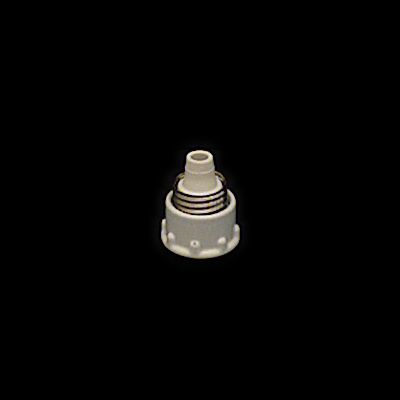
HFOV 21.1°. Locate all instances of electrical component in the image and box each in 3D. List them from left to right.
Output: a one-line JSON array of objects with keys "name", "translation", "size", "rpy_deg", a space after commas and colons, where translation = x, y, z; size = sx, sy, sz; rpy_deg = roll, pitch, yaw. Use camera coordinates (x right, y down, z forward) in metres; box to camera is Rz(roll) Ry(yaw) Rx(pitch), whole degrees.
[{"name": "electrical component", "translation": [0.000, 0.000, 0.641], "size": [0.048, 0.063, 0.047], "rpy_deg": [0, 31, 0]}]
